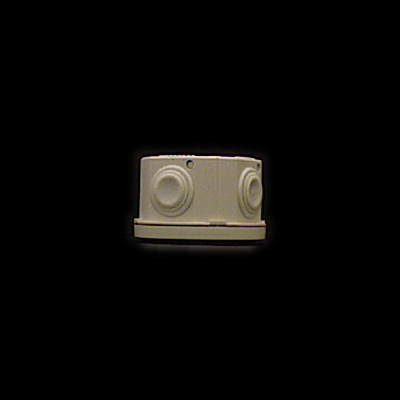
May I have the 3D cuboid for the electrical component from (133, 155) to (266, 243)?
[{"bbox_3d":[0.000,0.000,0.651,0.080,0.051,0.080,1,0,0],"label":"electrical component"}]
